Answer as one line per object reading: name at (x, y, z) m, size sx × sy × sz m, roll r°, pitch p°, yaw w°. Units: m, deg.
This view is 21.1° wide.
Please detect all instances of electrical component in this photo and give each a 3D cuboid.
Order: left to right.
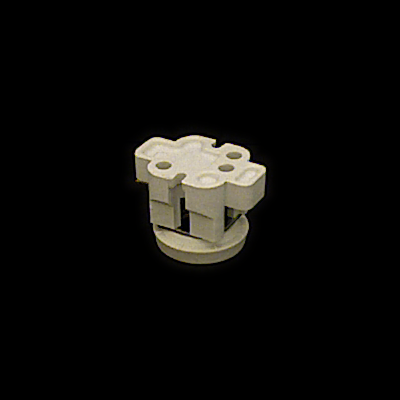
electrical component at (0.000, 0.000, 0.642) m, size 0.078 × 0.057 × 0.058 m, roll 15°, pitch 36°, yaw 24°
